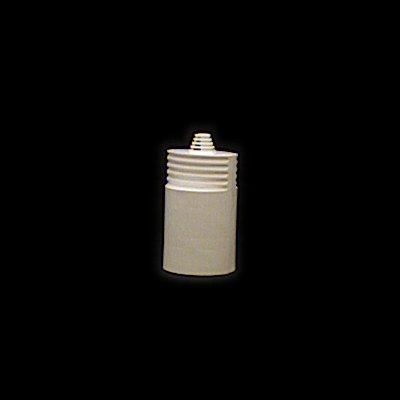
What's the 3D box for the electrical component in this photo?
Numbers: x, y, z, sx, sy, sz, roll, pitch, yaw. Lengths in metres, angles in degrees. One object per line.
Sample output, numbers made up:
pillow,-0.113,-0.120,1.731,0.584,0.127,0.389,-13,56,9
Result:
electrical component,0.000,0.000,0.642,0.043,0.081,0.043,1,11,0
